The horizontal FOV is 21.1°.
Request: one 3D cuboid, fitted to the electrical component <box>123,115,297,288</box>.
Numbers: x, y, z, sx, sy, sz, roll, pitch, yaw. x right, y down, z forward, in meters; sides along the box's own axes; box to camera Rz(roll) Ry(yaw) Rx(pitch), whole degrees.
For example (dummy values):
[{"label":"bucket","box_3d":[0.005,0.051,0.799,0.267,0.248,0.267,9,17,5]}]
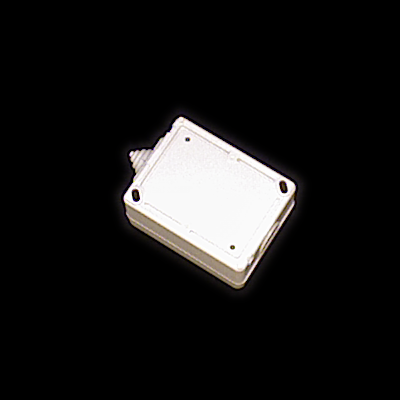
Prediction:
[{"label":"electrical component","box_3d":[0.000,0.000,0.629,0.096,0.062,0.060,31,-15,10]}]
